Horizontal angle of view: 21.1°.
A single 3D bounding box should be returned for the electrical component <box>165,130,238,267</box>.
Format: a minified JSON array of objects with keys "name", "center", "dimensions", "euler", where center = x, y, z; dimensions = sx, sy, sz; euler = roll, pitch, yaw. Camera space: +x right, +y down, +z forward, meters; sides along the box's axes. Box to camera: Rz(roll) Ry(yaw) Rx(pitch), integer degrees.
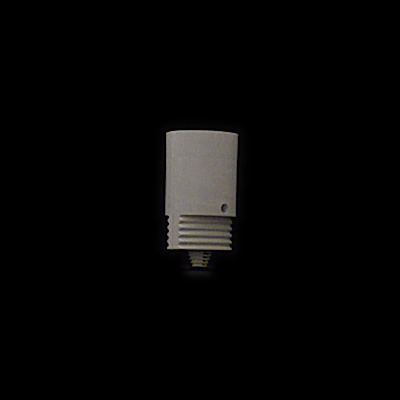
[{"name":"electrical component","center":[0.000,0.000,0.652],"dimensions":[0.043,0.081,0.043],"euler":[2,1,0]}]
